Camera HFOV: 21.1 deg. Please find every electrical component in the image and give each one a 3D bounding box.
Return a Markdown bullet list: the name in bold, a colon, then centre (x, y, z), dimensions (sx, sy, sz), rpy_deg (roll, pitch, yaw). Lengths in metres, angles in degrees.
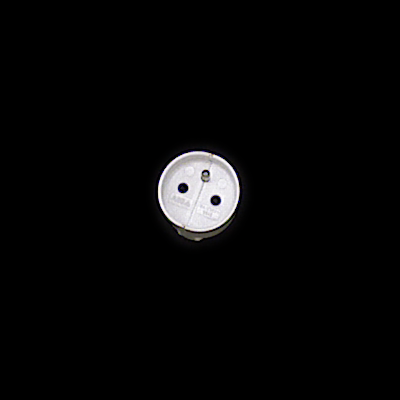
- **electrical component**: centre (0.000, 0.000, 0.616), dimensions (0.043, 0.043, 0.080), rpy_deg (0, -7, -1)
